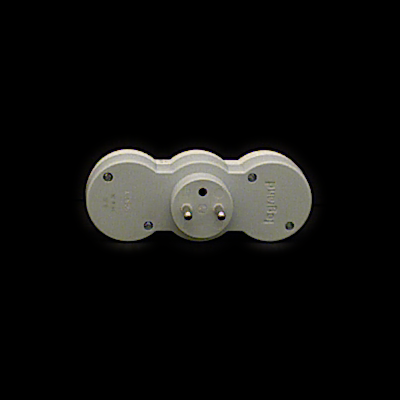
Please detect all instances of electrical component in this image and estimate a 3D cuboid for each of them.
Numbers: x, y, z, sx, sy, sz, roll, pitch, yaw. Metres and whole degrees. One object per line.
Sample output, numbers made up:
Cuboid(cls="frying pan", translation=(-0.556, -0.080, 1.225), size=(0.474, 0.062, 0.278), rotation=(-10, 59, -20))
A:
Cuboid(cls="electrical component", translation=(0.000, 0.000, 0.648), size=(0.138, 0.052, 0.073), rotation=(0, 13, -5))
